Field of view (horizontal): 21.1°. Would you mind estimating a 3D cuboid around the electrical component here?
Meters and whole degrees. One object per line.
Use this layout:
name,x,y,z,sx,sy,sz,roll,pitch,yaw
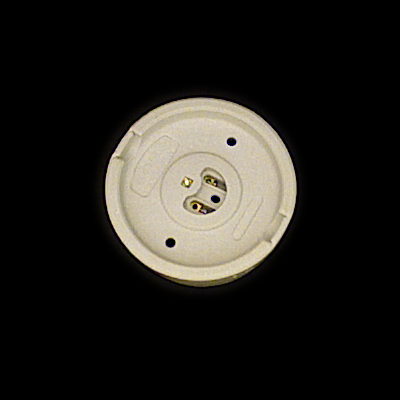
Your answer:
electrical component,0.000,0.000,0.633,0.108,0.108,0.060,0,-16,0
